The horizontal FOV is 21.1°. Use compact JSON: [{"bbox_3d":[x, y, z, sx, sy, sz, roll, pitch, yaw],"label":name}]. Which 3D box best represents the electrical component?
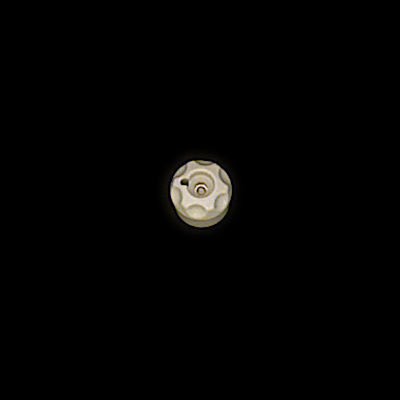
[{"bbox_3d":[0.000,0.000,0.634,0.035,0.035,0.061,0,-16,1],"label":"electrical component"}]
